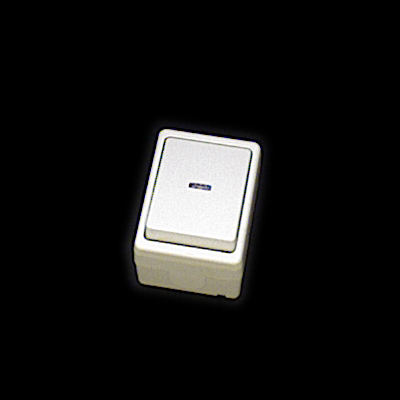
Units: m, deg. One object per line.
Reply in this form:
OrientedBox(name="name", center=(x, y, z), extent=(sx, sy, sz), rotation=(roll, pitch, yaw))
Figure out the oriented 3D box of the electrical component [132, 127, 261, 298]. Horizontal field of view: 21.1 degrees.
OrientedBox(name="electrical component", center=(0.000, 0.000, 0.627), extent=(0.062, 0.096, 0.061), rotation=(9, -27, 4))
